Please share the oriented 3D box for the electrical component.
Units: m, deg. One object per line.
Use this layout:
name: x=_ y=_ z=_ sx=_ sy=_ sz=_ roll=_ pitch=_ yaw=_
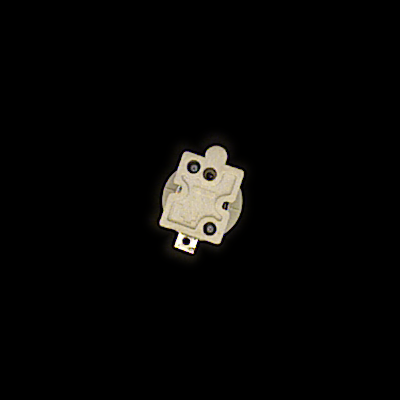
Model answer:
electrical component: x=0.000 y=0.000 z=0.639 sx=0.048 sy=0.066 sz=0.055 roll=19 pitch=-4 yaw=1
